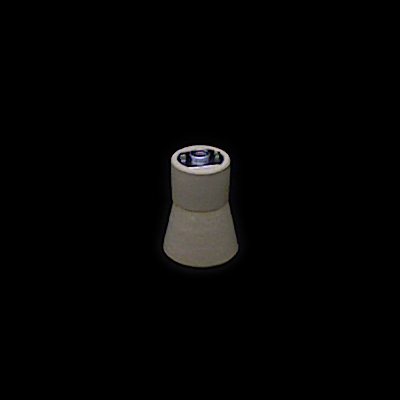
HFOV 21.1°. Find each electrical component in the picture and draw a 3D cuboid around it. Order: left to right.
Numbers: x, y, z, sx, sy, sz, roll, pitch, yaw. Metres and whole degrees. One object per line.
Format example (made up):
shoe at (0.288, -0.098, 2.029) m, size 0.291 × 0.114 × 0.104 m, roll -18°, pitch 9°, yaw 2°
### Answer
electrical component at (0.000, 0.000, 0.635) m, size 0.044 × 0.066 × 0.044 m, roll 0°, pitch 31°, yaw 0°
